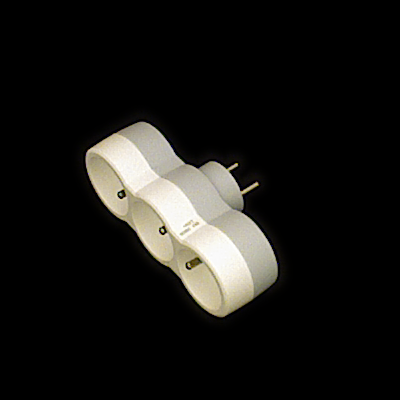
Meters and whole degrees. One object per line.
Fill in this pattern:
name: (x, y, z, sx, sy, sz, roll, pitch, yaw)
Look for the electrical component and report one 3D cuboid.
electrical component: (0.000, 0.000, 0.639, 0.074, 0.137, 0.052, -32, -30, -24)
